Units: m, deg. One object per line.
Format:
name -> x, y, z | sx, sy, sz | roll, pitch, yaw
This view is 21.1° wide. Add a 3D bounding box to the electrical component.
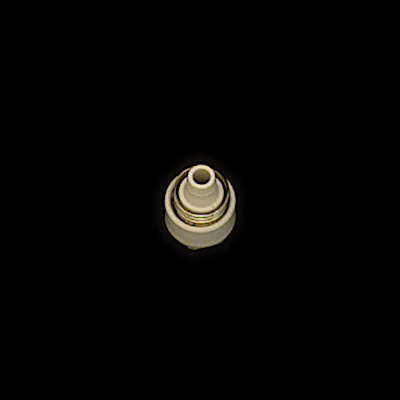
electrical component -> 0.000, 0.000, 0.634 | 0.043, 0.043, 0.062 | 0, -27, -1
